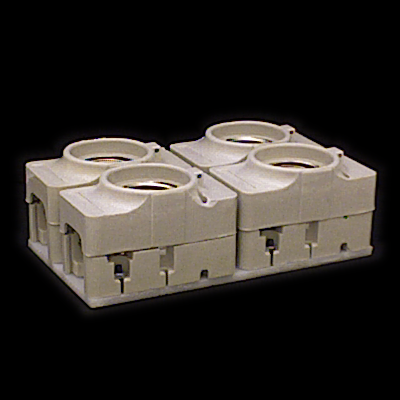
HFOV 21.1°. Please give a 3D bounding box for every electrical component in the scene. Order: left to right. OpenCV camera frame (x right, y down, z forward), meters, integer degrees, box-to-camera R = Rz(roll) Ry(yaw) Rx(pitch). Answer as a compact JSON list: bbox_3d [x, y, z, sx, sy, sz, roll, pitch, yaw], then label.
[{"bbox_3d":[0.000,0.000,0.640,0.186,0.061,0.104,-9,23,-26],"label":"electrical component"}]
